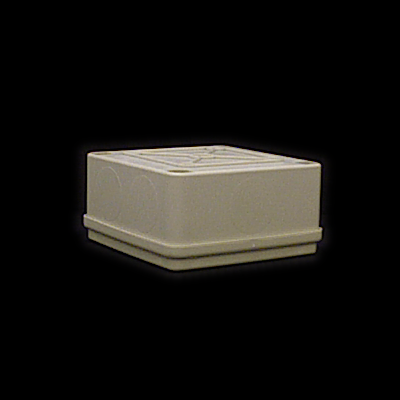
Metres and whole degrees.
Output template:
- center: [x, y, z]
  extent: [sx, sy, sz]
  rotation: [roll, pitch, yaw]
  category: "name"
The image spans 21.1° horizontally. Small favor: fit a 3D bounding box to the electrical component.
- center: [0.000, 0.000, 0.647]
  extent: [0.109, 0.056, 0.107]
  rotation: [-5, 12, -34]
  category: "electrical component"
